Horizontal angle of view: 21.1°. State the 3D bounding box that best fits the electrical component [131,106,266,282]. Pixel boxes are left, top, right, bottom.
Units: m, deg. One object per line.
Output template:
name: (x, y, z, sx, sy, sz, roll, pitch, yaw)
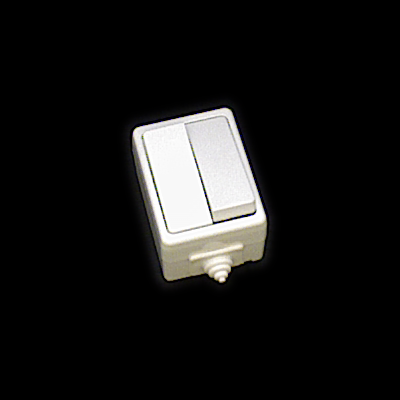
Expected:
electrical component: (0.000, 0.000, 0.625, 0.062, 0.096, 0.060, -13, -27, -6)
